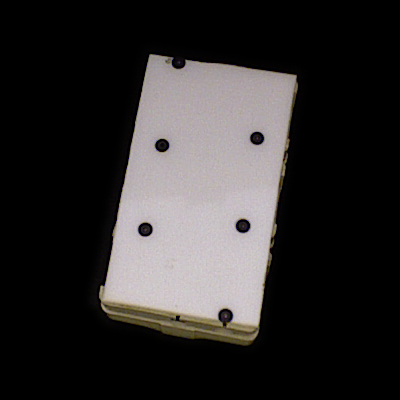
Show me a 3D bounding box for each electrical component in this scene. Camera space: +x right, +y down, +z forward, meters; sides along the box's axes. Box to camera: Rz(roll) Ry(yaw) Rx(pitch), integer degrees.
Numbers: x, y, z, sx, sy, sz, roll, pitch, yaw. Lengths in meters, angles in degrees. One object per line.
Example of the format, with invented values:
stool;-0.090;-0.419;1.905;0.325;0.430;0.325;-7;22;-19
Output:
electrical component;0.000;0.000;0.629;0.089;0.150;0.062;9;-16;3
